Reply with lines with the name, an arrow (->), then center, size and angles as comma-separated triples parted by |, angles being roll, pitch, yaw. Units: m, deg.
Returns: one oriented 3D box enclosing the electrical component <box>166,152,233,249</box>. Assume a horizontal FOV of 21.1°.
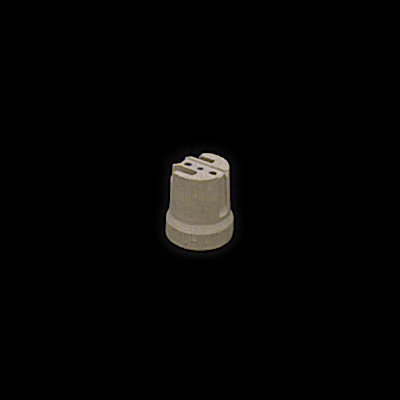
electrical component -> 0.000, 0.000, 0.639 | 0.040, 0.046, 0.040 | 1, 32, -1
